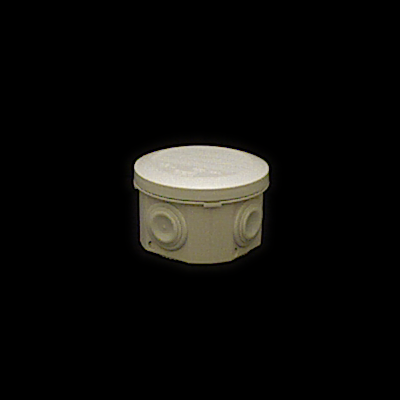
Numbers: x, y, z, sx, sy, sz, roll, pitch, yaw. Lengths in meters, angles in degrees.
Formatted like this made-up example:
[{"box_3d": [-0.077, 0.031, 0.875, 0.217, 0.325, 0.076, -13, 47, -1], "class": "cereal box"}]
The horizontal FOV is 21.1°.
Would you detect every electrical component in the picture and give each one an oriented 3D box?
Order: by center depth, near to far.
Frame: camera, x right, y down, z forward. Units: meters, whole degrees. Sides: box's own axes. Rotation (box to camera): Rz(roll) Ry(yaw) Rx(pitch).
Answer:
[{"box_3d": [0.000, 0.000, 0.641, 0.080, 0.051, 0.079, 1, 21, 0], "class": "electrical component"}]
